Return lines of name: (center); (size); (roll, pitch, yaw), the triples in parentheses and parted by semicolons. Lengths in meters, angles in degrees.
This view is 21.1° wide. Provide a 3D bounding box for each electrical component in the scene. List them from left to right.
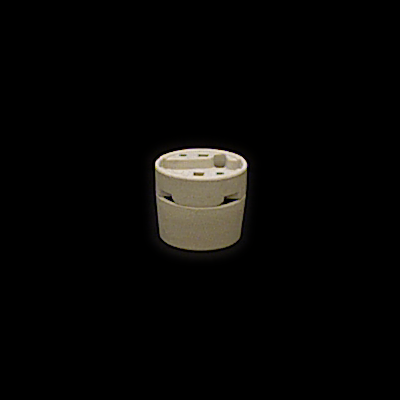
electrical component: (0.000, 0.000, 0.641); (0.055, 0.047, 0.055); (1, 21, 0)
